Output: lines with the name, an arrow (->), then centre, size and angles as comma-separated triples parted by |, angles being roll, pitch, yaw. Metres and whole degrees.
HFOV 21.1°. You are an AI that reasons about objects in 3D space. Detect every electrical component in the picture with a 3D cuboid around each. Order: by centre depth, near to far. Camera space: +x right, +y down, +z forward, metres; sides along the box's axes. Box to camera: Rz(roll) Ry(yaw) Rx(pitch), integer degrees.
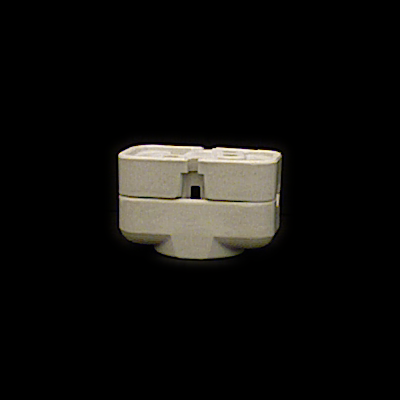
electrical component -> 0.000, 0.000, 0.653 | 0.095, 0.060, 0.053 | 3, 12, 9
